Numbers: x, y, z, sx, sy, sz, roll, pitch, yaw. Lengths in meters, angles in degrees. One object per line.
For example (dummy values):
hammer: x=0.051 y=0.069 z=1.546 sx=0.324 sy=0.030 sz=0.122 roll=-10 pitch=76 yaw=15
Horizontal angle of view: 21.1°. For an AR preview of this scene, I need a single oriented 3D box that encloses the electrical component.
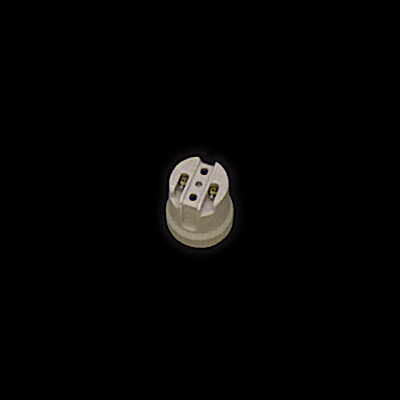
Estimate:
electrical component: x=0.000 y=0.000 z=0.633 sx=0.040 sy=0.040 sz=0.046 roll=0 pitch=-27 yaw=0
